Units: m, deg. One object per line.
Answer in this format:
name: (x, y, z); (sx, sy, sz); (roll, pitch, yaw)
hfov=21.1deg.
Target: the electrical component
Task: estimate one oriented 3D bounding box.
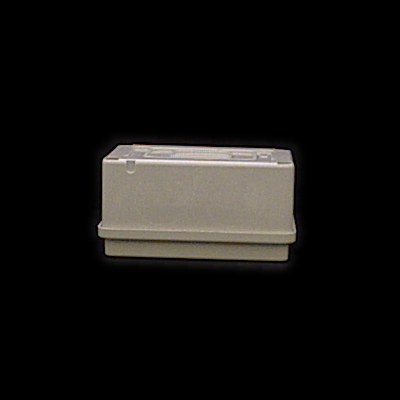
electrical component: (0.000, 0.000, 0.644); (0.113, 0.057, 0.077); (2, 10, 2)
